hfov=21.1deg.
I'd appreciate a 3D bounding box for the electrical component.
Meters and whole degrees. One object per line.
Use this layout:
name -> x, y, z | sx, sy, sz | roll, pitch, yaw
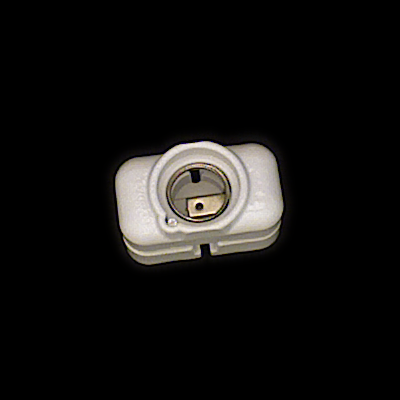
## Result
electrical component -> 0.000, 0.000, 0.633 | 0.095, 0.054, 0.059 | -8, -16, -2
